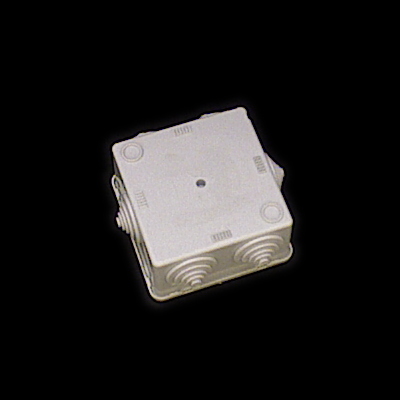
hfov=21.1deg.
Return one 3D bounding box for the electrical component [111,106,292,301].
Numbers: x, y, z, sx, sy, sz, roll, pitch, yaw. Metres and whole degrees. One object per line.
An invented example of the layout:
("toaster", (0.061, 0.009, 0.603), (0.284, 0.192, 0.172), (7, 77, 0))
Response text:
("electrical component", (0.000, 0.000, 0.632), (0.100, 0.099, 0.048), (-17, -25, -9))
